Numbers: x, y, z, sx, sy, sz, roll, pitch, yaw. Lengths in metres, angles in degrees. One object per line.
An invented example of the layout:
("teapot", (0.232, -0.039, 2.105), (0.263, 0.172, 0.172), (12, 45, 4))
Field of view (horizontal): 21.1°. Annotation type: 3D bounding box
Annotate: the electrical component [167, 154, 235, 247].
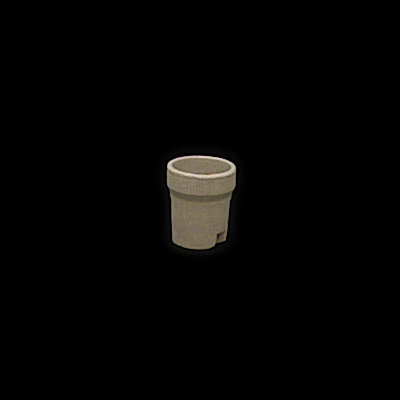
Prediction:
("electrical component", (0.000, 0.000, 0.639), (0.040, 0.047, 0.039), (1, 21, 0))
